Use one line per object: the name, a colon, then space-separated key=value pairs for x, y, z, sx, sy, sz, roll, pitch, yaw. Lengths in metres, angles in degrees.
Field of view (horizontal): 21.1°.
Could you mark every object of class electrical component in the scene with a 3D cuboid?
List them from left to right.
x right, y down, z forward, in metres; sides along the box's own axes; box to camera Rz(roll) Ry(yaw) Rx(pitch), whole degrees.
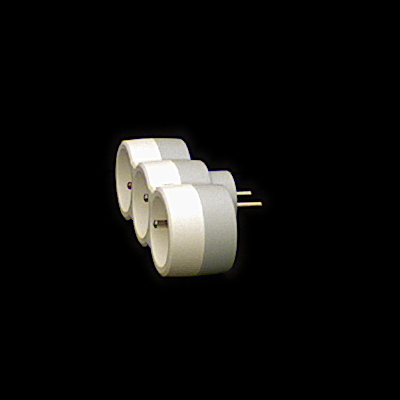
electrical component: x=0.000 y=0.000 z=0.647 sx=0.074 sy=0.053 sz=0.136 roll=-4 pitch=22 yaw=-17
